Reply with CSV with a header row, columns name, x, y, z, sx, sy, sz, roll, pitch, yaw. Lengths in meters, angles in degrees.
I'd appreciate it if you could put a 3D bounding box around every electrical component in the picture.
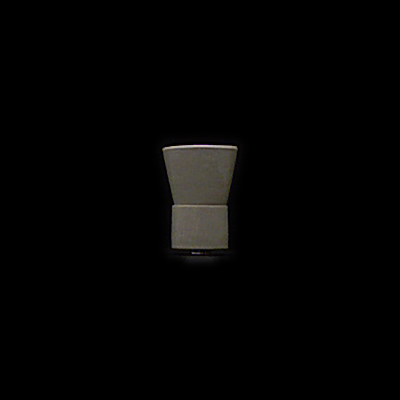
name,x,y,z,sx,sy,sz,roll,pitch,yaw
electrical component,0.000,0.000,0.648,0.044,0.065,0.044,1,2,0
